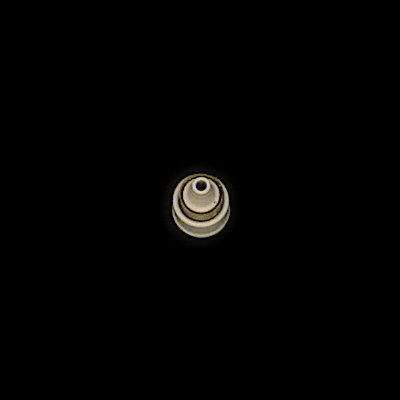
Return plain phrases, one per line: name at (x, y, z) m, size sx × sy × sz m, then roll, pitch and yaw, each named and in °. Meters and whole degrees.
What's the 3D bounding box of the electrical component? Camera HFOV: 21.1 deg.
electrical component at (0.000, 0.000, 0.637) m, size 0.035 × 0.035 × 0.061 m, roll 0°, pitch -16°, yaw -1°
